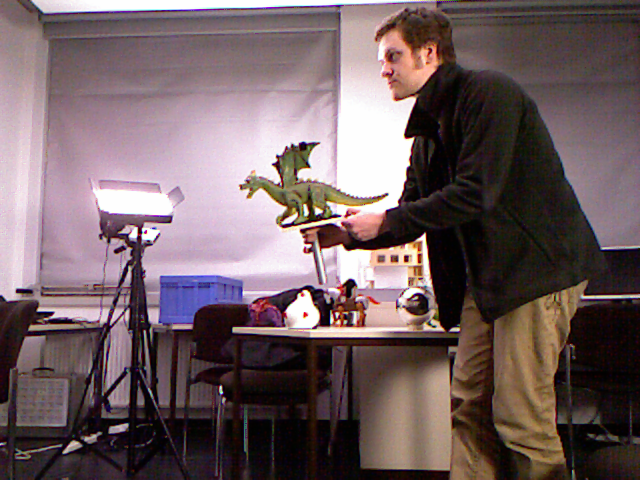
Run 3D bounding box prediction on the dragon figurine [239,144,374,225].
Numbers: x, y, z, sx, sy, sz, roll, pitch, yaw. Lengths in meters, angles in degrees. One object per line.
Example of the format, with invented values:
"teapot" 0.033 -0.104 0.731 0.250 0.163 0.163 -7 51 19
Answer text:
"dragon figurine" -0.048 -0.184 1.624 0.412 0.241 0.123 -15 11 -10
